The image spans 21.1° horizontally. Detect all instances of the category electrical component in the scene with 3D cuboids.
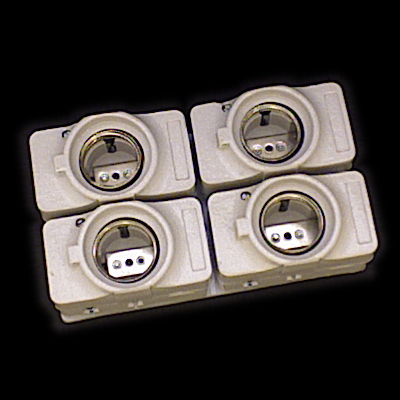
[{"bbox_3d":[0.000,0.000,0.625,0.186,0.106,0.060,-10,-17,-3],"label":"electrical component"}]
